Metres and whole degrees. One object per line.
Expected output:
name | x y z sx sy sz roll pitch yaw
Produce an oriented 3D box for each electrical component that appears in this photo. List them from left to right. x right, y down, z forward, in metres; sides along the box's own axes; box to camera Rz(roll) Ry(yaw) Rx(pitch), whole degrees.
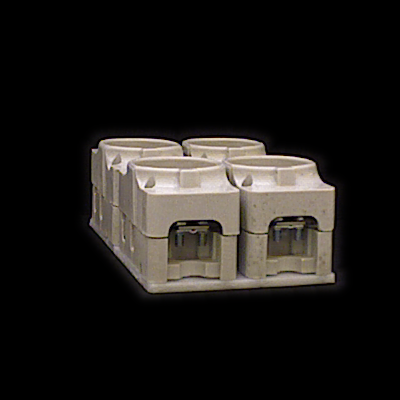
electrical component | 0.000 0.000 0.644 0.105 0.061 0.184 -1 10 -15
